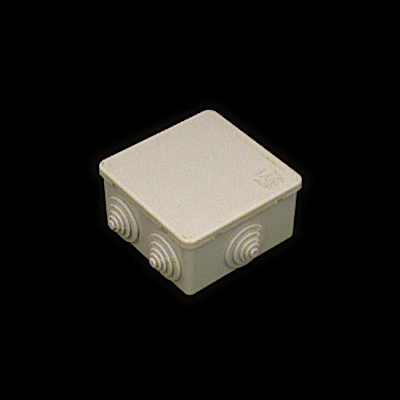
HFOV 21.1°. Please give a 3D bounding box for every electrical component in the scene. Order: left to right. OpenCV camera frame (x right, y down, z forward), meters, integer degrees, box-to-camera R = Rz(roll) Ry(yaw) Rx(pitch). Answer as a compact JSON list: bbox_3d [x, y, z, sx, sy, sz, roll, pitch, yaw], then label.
[{"bbox_3d":[0.000,0.000,0.643,0.100,0.049,0.098,-28,50,-28],"label":"electrical component"}]
